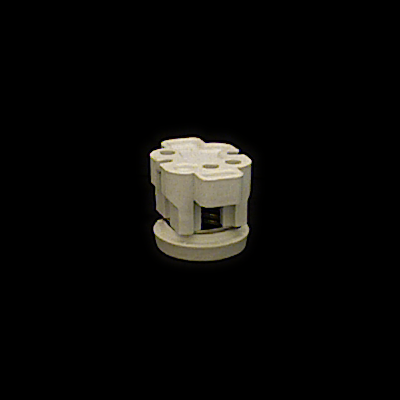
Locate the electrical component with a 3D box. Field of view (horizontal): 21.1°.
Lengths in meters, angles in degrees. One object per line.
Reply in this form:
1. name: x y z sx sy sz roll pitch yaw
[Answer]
1. electrical component: 0.000 0.000 0.647 0.058 0.057 0.077 -8 22 -21
